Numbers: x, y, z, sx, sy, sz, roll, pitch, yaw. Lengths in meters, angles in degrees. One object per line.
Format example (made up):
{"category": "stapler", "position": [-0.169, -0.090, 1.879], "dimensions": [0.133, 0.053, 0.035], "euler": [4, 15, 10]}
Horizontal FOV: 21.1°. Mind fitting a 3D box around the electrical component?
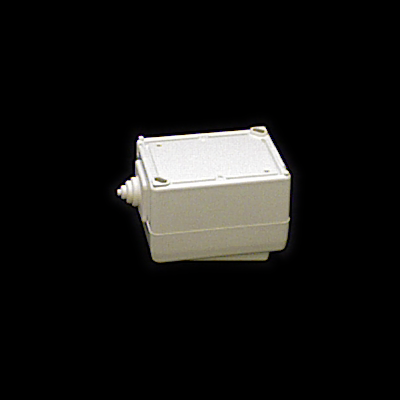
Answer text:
{"category": "electrical component", "position": [0.000, 0.000, 0.631], "dimensions": [0.096, 0.061, 0.061], "euler": [-5, 32, -11]}
